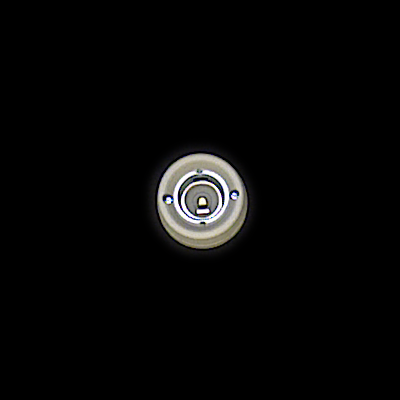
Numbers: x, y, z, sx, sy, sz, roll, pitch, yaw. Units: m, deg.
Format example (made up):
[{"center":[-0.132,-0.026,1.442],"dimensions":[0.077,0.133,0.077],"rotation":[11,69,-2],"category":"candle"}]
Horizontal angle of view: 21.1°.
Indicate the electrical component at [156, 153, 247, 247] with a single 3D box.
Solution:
[{"center":[0.000,0.000,0.634],"dimensions":[0.055,0.055,0.047],"rotation":[0,-7,1],"category":"electrical component"}]
